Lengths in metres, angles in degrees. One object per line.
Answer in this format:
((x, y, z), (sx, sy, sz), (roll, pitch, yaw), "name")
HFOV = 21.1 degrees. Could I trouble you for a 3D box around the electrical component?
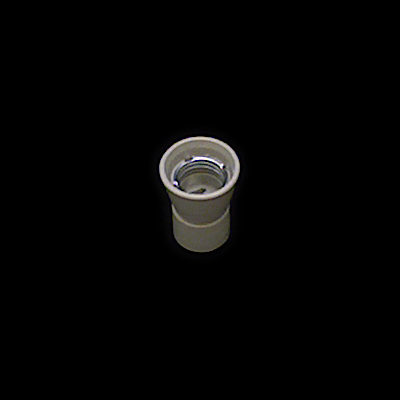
((0.000, 0.000, 0.625), (0.044, 0.044, 0.065), (0, -37, 1), "electrical component")
